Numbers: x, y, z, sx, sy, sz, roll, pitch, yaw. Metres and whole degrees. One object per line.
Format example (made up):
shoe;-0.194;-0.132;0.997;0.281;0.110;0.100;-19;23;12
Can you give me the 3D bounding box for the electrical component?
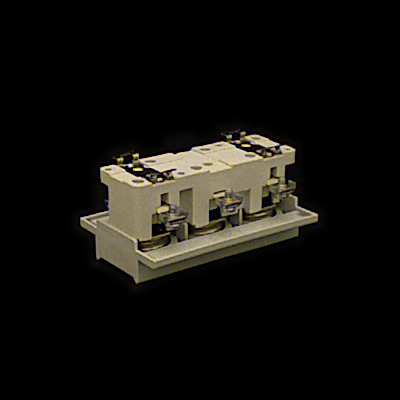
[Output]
electrical component;0.000;0.000;0.647;0.122;0.064;0.077;-14;26;-35
